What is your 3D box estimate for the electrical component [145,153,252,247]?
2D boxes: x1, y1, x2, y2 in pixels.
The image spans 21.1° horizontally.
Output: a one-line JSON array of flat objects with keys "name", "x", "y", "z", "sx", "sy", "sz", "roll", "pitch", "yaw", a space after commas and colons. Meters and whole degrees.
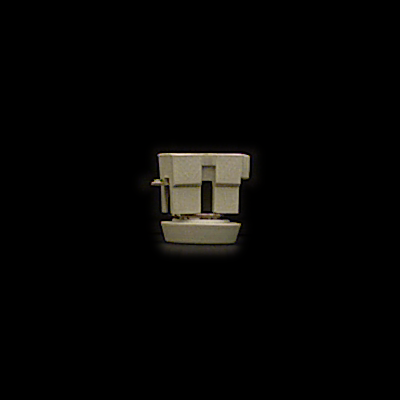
[{"name": "electrical component", "x": 0.000, "y": 0.000, "z": 0.657, "sx": 0.067, "sy": 0.055, "sz": 0.048, "roll": 0, "pitch": 3, "yaw": -17}]
